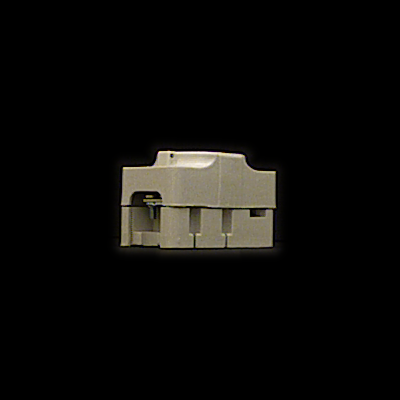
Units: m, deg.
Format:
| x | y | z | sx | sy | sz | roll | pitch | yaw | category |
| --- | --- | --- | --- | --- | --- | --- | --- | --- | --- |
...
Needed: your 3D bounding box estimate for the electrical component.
| x | y | z | sx | sy | sz | roll | pitch | yaw | category |
| --- | --- | --- | --- | --- | --- | --- | --- | --- | --- |
| 0.000 | 0.000 | 0.657 | 0.049 | 0.056 | 0.090 | 3 | 1 | 44 | electrical component |
